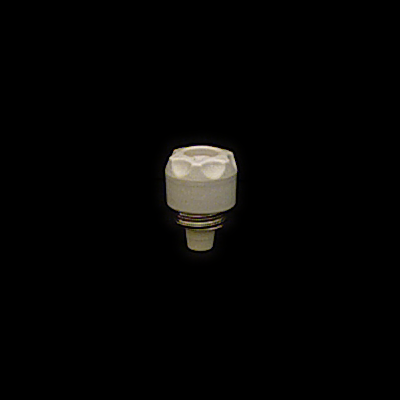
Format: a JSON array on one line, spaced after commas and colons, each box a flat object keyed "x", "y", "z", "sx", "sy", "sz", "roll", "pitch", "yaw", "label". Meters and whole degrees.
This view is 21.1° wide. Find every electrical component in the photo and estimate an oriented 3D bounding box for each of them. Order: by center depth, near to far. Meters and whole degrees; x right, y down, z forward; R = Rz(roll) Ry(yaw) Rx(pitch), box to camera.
[{"x": 0.000, "y": 0.000, "z": 0.647, "sx": 0.043, "sy": 0.063, "sz": 0.043, "roll": 1, "pitch": 21, "yaw": 0, "label": "electrical component"}]
